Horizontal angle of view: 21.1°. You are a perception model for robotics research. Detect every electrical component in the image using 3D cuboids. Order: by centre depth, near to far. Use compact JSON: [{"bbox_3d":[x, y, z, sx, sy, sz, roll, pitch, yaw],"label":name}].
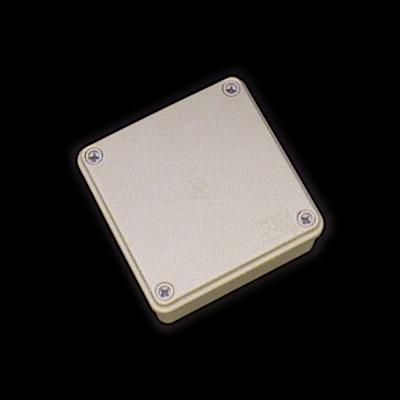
[{"bbox_3d":[0.000,0.000,0.629,0.109,0.109,0.056,-27,-15,-8],"label":"electrical component"}]
